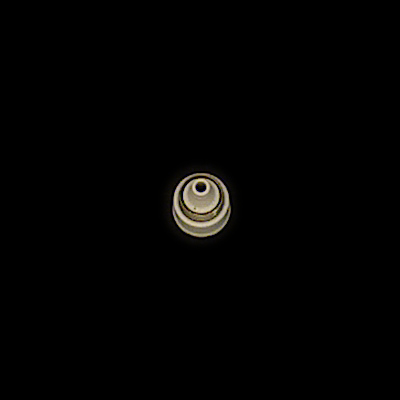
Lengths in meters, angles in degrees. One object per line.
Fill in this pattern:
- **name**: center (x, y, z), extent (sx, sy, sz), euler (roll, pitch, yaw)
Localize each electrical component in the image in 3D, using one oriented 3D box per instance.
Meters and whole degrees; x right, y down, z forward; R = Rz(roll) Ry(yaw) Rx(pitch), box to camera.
- **electrical component**: center (0.000, 0.000, 0.637), extent (0.035, 0.035, 0.061), euler (0, -15, 1)
